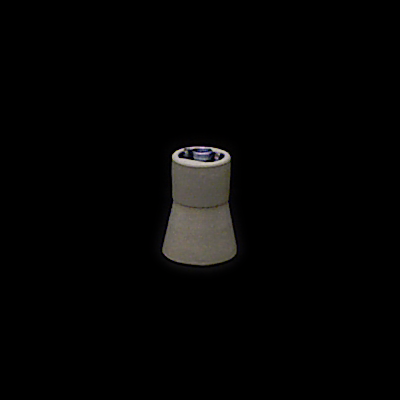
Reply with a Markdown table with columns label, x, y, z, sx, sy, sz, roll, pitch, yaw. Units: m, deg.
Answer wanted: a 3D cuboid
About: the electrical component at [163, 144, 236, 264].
| label | x | y | z | sx | sy | sz | roll | pitch | yaw |
| --- | --- | --- | --- | --- | --- | --- | --- | --- | --- |
| electrical component | 0.000 | 0.000 | 0.637 | 0.044 | 0.066 | 0.044 | 1 | 22 | 0 |
